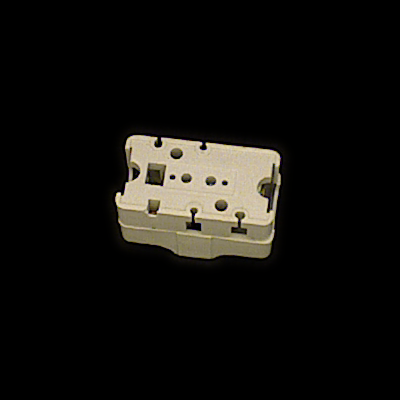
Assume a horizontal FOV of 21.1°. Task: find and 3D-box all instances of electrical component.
[{"bbox_3d":[0.000,0.000,0.636,0.089,0.050,0.055,6,-26,3],"label":"electrical component"}]
